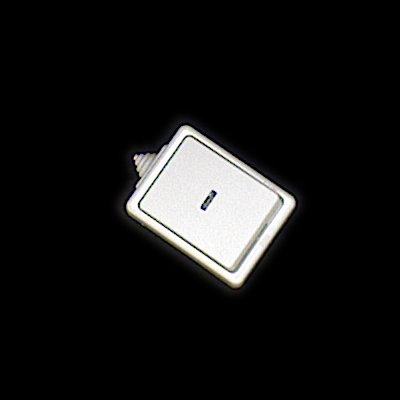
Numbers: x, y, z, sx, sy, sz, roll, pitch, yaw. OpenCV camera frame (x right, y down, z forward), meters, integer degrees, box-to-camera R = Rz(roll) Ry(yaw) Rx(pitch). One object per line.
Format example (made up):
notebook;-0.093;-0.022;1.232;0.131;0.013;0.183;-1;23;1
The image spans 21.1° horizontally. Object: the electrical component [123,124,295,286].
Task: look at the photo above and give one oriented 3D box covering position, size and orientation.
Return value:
electrical component;0.000;0.000;0.627;0.096;0.062;0.061;35;-5;4
